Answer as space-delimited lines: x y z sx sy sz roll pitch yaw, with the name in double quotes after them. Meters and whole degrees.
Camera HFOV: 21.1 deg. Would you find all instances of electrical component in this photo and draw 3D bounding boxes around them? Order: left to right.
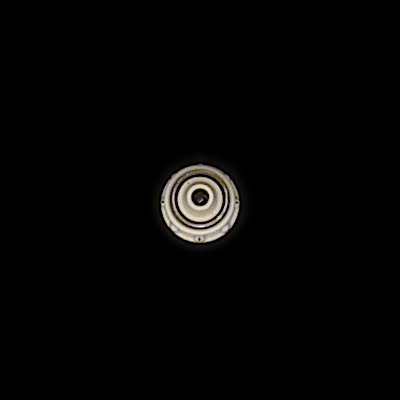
0.000 0.000 0.635 0.048 0.048 0.062 0 -5 0 "electrical component"
